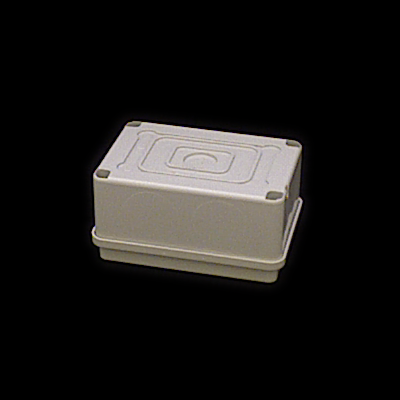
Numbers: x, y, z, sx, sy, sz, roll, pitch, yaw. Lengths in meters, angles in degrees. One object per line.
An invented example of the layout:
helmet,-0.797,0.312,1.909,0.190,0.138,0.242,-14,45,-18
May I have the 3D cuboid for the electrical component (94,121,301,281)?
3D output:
electrical component,0.000,0.000,0.635,0.113,0.058,0.077,7,32,11
